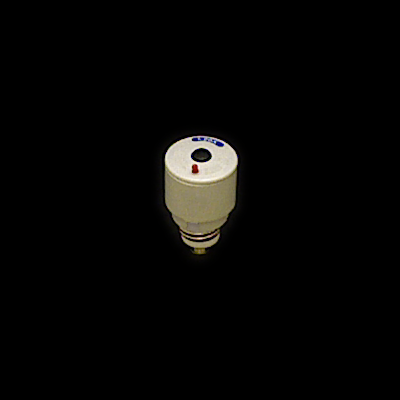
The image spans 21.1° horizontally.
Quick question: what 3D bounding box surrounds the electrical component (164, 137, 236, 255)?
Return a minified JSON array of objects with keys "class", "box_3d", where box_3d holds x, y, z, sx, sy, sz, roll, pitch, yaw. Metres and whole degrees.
[{"class":"electrical component","box_3d":[0.000,0.000,0.622,0.040,0.079,0.039,0,42,0]}]
